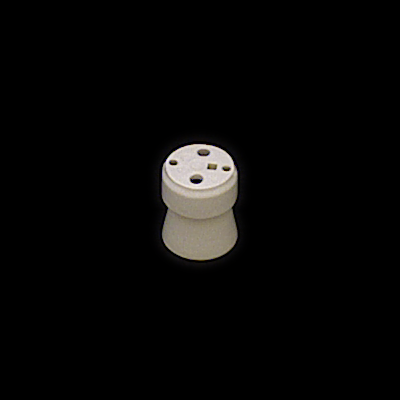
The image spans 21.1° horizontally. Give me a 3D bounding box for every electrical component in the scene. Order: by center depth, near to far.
[{"bbox_3d":[0.000,0.000,0.631,0.045,0.055,0.044,0,42,0],"label":"electrical component"}]
